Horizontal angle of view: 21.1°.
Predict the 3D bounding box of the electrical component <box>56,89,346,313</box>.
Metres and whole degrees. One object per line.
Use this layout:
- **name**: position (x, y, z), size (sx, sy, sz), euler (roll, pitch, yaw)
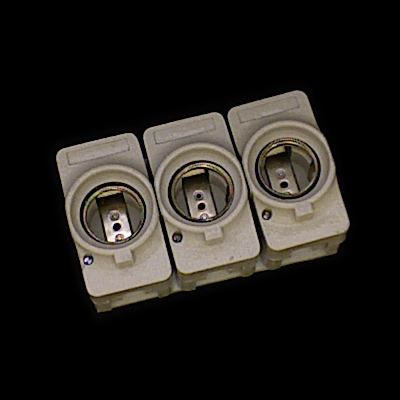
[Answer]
- **electrical component**: position (0.000, 0.000, 0.631), size (0.150, 0.089, 0.062), euler (-15, -16, -4)
